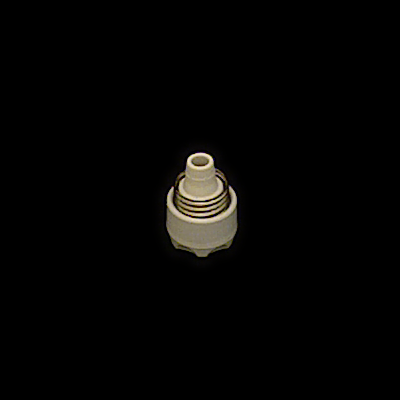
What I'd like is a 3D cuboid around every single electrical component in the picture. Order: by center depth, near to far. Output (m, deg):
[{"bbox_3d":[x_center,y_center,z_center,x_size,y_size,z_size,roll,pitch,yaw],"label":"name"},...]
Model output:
[{"bbox_3d":[0.000,0.000,0.638,0.043,0.062,0.043,0,42,1],"label":"electrical component"}]
